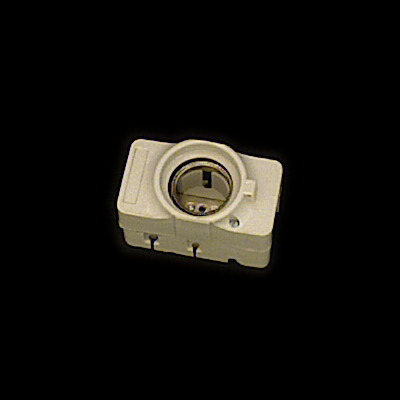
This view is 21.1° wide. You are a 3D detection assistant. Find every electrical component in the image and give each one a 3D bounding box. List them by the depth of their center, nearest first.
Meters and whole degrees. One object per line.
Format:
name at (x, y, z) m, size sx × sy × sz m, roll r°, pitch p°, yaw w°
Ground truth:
electrical component at (0.000, 0.000, 0.636) m, size 0.089 × 0.050 × 0.055 m, roll 9°, pitch -26°, yaw 5°
